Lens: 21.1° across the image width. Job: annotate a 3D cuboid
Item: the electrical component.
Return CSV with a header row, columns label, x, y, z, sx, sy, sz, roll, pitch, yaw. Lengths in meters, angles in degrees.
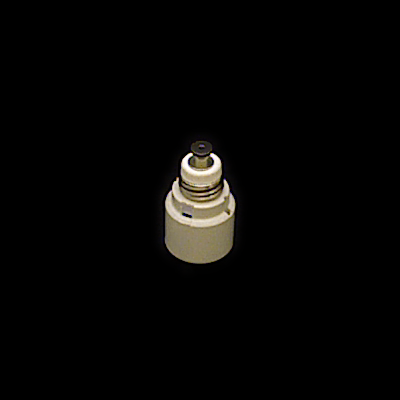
label,x,y,z,sx,sy,sz,roll,pitch,yaw
electrical component,0.000,0.000,0.625,0.040,0.079,0.039,1,42,-1
